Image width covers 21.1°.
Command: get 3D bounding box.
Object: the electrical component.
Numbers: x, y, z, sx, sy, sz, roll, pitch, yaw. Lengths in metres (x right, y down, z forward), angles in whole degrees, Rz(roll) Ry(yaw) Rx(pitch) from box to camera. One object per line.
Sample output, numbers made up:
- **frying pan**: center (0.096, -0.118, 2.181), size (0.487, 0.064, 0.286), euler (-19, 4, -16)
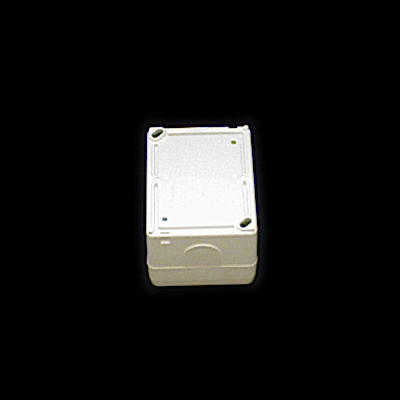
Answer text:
- **electrical component**: center (0.000, 0.000, 0.632), size (0.062, 0.095, 0.061), euler (-1, -38, -1)
